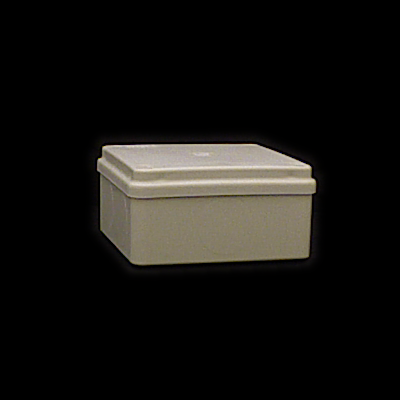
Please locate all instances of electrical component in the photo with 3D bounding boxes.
[{"bbox_3d":[0.000,0.000,0.644,0.109,0.056,0.107,-2,11,-16],"label":"electrical component"}]
